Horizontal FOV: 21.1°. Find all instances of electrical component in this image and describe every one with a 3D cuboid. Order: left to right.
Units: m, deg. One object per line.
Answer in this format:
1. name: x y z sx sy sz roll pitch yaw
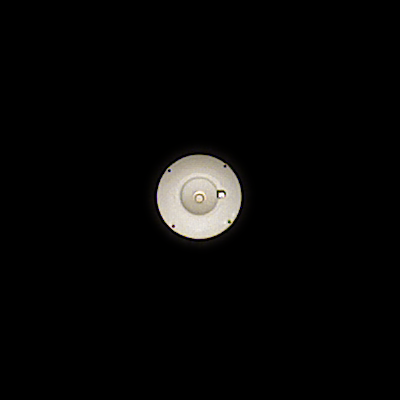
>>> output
1. electrical component: 0.000 0.000 0.634 0.048 0.048 0.062 0 -5 1
